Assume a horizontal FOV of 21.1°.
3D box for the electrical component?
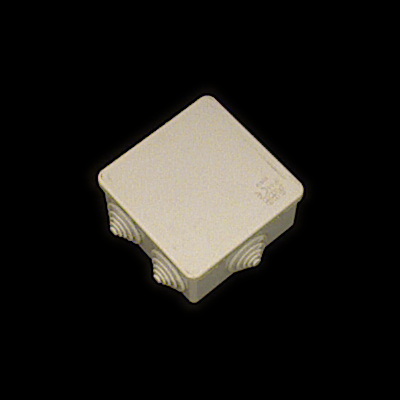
[{"bbox_3d":[0.000,0.000,0.640,0.100,0.099,0.048,-37,-21,-17],"label":"electrical component"}]
